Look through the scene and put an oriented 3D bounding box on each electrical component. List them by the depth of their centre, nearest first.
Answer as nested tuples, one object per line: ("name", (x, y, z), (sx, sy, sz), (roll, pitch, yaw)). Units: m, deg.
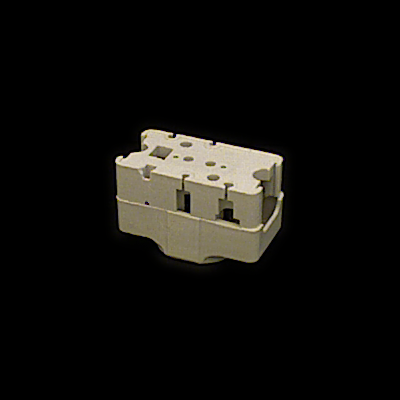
("electrical component", (0.000, 0.000, 0.642), (0.089, 0.056, 0.050), (12, 35, 18))
